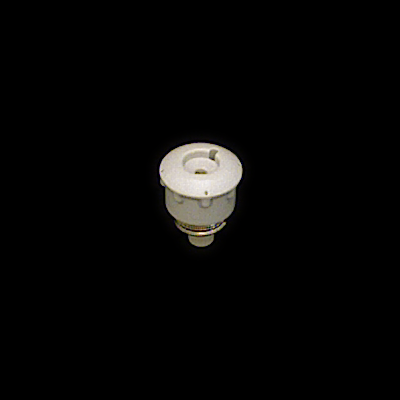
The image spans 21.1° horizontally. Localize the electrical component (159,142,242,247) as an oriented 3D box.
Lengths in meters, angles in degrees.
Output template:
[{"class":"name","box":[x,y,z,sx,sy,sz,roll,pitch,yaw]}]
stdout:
[{"class":"electrical component","box":[0.000,0.000,0.639,0.048,0.062,0.047,1,43,0]}]
